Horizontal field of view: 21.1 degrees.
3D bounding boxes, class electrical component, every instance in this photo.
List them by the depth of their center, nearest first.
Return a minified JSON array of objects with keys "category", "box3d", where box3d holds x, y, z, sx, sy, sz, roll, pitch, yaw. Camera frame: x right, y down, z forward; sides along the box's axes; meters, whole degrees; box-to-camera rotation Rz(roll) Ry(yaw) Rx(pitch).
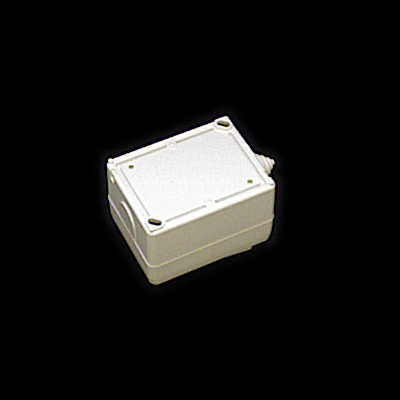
[{"category":"electrical component","box3d":[0.000,0.000,0.631,0.096,0.061,0.061,-22,-36,-16]}]
